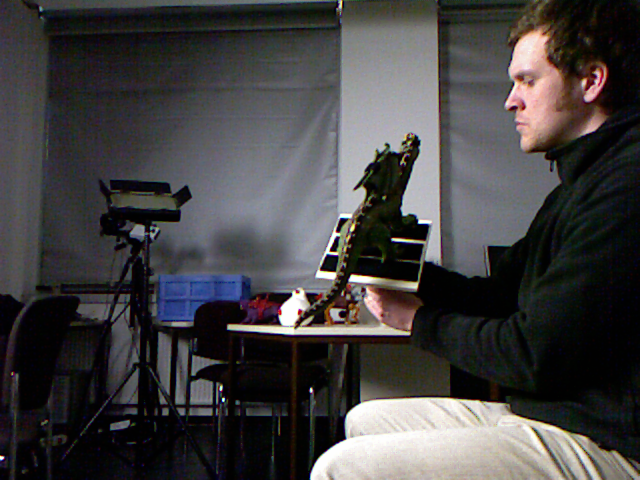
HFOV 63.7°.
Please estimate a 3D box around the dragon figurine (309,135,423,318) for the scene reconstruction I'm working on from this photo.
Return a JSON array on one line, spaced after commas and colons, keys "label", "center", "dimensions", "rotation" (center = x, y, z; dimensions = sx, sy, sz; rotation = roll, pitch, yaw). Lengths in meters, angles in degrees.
[{"label": "dragon figurine", "center": [0.094, -0.059, 0.968], "dimensions": [0.123, 0.238, 0.420], "rotation": [21, 52, 24]}]
